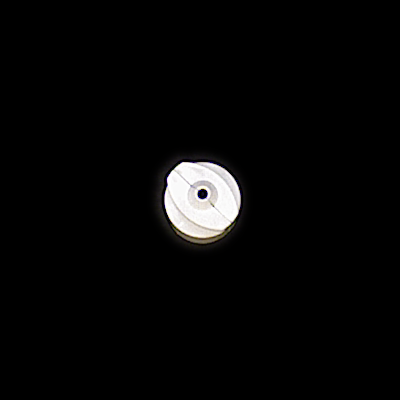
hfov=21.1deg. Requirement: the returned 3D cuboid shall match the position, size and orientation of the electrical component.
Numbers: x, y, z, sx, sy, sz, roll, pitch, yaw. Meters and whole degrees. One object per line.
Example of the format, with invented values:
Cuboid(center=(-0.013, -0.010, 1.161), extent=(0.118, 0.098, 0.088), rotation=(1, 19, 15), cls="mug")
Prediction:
Cuboid(center=(0.000, 0.000, 0.616), extent=(0.043, 0.043, 0.080), rotation=(0, -6, 1), cls="electrical component")
